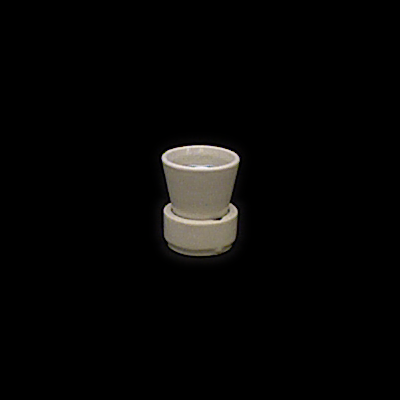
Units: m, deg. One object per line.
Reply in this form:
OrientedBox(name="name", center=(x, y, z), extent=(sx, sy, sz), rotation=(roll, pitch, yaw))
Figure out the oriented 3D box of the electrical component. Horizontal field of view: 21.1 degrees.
OrientedBox(name="electrical component", center=(0.000, 0.000, 0.637), extent=(0.045, 0.056, 0.044), rotation=(0, 21, 0))
